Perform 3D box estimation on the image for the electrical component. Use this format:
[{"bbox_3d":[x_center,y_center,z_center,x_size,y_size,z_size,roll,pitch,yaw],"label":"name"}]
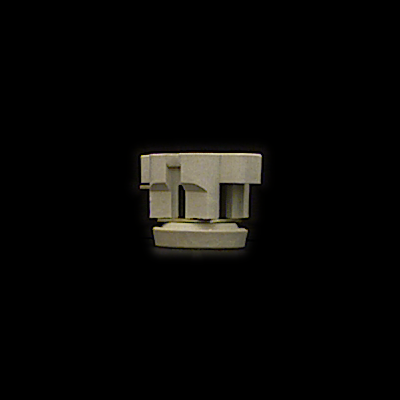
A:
[{"bbox_3d":[0.000,0.000,0.656,0.078,0.057,0.058,0,1,35],"label":"electrical component"}]
